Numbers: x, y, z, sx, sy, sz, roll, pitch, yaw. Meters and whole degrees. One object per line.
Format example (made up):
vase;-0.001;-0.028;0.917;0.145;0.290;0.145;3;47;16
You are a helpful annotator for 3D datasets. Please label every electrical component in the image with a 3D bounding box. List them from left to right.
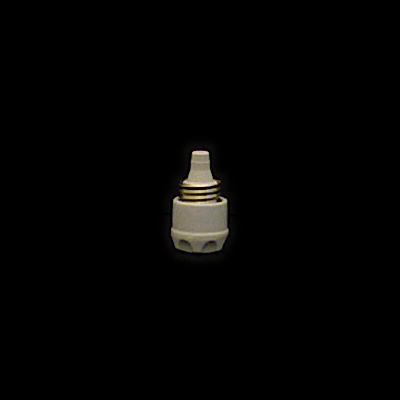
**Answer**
electrical component;0.000;0.000;0.658;0.035;0.062;0.035;0;13;0
